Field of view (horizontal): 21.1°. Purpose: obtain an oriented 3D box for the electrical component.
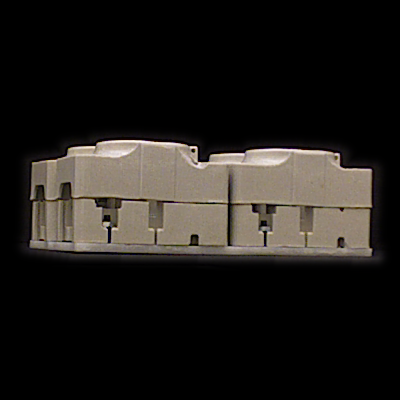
[{"bbox_3d":[0.000,0.000,0.651,0.187,0.060,0.105,2,-1,-23],"label":"electrical component"}]
